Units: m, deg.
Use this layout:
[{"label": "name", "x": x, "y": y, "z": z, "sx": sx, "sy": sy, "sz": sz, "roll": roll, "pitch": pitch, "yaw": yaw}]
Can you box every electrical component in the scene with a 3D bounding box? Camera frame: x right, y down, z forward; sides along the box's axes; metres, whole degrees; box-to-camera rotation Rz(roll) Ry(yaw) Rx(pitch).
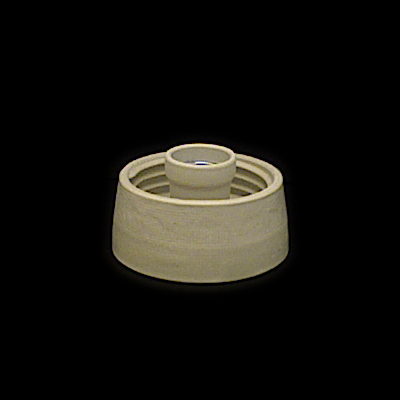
[{"label": "electrical component", "x": 0.000, "y": 0.000, "z": 0.646, "sx": 0.108, "sy": 0.061, "sz": 0.106, "roll": 1, "pitch": 22, "yaw": 0}]
